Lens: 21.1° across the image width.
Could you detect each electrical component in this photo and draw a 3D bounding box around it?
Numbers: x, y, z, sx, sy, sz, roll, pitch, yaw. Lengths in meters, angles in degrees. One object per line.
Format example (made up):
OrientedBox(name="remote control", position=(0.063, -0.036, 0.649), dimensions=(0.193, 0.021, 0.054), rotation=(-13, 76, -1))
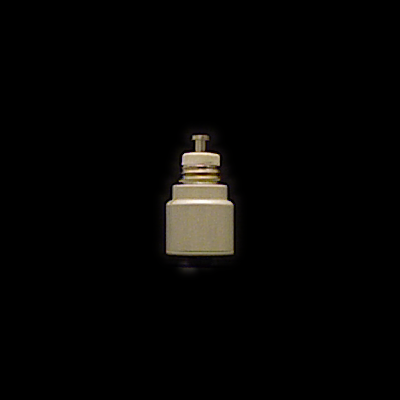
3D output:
OrientedBox(name="electrical component", position=(0.000, 0.000, 0.650), dimensions=(0.040, 0.078, 0.040), rotation=(1, 2, 0))
